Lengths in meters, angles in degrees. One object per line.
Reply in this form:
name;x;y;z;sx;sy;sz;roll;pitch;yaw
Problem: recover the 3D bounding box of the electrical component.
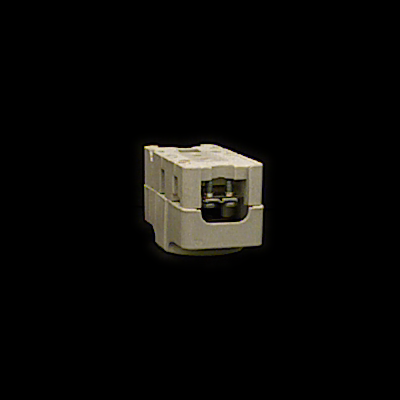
electrical component;0.000;0.000;0.651;0.050;0.056;0.088;-4;12;-18
